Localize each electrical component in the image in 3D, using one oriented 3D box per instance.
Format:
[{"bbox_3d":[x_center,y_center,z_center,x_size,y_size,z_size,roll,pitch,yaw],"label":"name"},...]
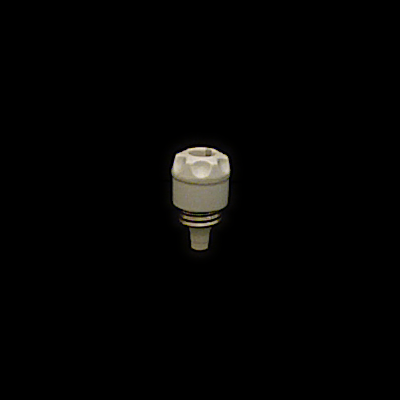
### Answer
[{"bbox_3d":[0.000,0.000,0.647,0.035,0.062,0.034,1,22,0],"label":"electrical component"}]
